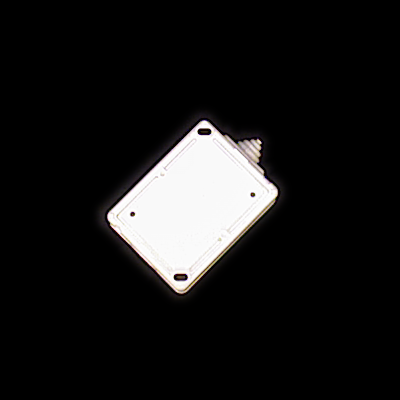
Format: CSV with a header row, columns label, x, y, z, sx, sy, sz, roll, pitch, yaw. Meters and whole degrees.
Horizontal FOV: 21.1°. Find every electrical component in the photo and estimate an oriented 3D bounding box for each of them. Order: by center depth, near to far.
label,x,y,z,sx,sy,sz,roll,pitch,yaw
electrical component,0.000,0.000,0.629,0.062,0.096,0.061,44,-5,5
